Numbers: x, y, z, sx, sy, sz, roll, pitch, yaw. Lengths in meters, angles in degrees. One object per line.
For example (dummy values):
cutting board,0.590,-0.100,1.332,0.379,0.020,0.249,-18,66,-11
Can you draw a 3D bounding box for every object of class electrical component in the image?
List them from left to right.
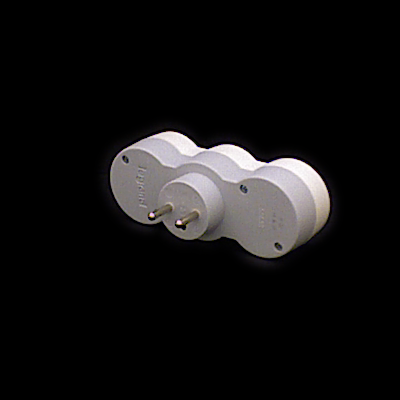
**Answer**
electrical component,0.000,0.000,0.639,0.137,0.053,0.073,15,27,31
